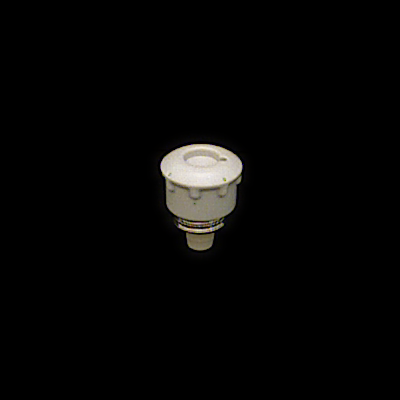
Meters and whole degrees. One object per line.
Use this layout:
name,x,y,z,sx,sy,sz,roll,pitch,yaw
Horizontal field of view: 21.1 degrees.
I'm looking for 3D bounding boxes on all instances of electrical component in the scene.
electrical component,0.000,0.000,0.643,0.048,0.063,0.047,1,32,0
